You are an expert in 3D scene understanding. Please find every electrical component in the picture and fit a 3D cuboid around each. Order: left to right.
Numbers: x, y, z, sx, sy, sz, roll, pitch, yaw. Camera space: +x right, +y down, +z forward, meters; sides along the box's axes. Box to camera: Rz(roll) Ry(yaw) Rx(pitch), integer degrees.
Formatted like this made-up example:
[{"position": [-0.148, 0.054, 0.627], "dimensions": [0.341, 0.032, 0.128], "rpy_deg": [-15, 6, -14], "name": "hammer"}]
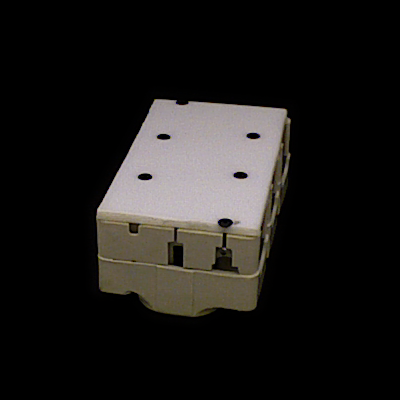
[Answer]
[{"position": [0.000, 0.000, 0.643], "dimensions": [0.089, 0.063, 0.147], "rpy_deg": [7, 31, 9], "name": "electrical component"}]
